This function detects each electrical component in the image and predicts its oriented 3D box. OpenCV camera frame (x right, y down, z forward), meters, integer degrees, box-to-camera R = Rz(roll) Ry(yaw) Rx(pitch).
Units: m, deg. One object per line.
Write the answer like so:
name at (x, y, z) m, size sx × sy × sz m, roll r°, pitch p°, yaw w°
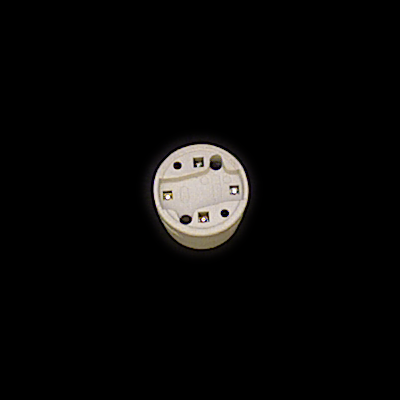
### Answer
electrical component at (0.000, 0.000, 0.635) m, size 0.055 × 0.056 × 0.047 m, roll 0°, pitch -17°, yaw 0°
